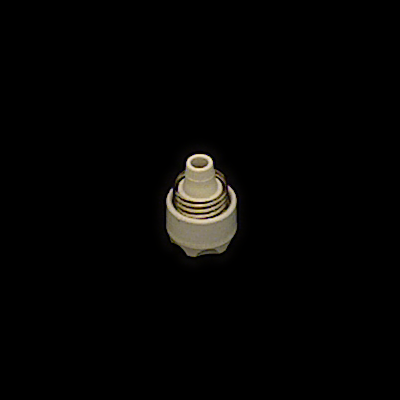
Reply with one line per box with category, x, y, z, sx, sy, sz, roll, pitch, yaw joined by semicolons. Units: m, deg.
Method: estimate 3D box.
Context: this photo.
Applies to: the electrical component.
electrical component;0.000;0.000;0.638;0.043;0.062;0.043;0;42;1
